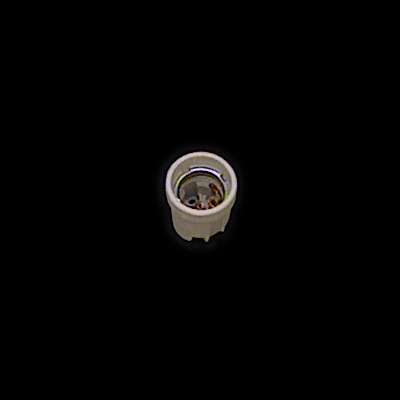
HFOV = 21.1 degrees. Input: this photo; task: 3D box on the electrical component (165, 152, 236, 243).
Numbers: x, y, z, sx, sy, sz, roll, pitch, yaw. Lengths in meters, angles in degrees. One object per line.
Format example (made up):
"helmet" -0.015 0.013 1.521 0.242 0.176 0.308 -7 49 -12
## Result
"electrical component" 0.000 0.000 0.627 0.040 0.040 0.046 0 -27 0
